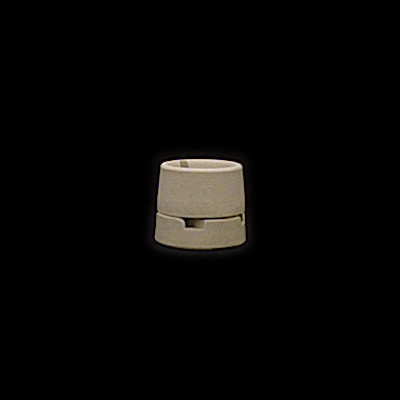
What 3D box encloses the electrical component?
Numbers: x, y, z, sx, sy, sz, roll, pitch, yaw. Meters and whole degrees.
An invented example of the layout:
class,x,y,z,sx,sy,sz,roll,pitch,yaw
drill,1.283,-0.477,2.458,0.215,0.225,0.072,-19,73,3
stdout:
class,x,y,z,sx,sy,sz,roll,pitch,yaw
electrical component,0.000,0.000,0.647,0.055,0.047,0.055,1,10,0
